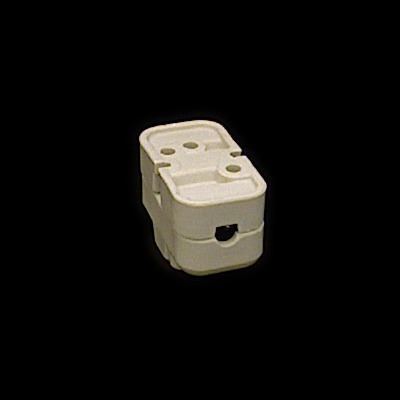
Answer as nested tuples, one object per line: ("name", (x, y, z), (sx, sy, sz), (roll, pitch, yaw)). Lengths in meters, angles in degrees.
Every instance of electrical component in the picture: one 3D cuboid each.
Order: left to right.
("electrical component", (0.000, 0.000, 0.639), (0.054, 0.060, 0.093), (-10, 34, -16))
